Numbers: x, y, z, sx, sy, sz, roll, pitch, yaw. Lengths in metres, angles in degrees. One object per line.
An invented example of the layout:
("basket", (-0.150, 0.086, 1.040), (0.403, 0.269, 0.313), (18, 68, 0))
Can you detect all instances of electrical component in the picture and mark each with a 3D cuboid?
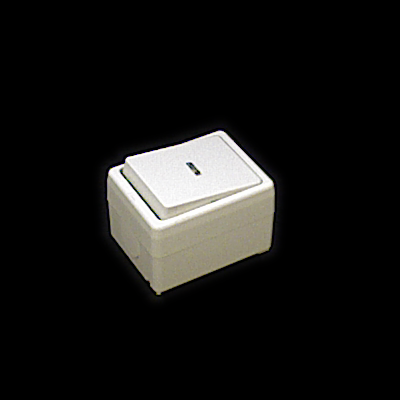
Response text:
("electrical component", (0.000, 0.000, 0.631), (0.096, 0.061, 0.061), (-21, 46, -22))
